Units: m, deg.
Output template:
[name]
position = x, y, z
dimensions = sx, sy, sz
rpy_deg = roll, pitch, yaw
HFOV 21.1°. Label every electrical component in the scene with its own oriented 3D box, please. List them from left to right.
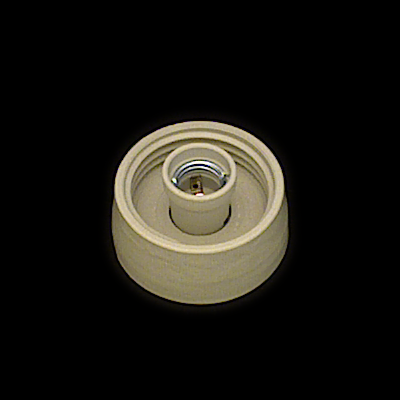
[electrical component]
position = 0.000, 0.000, 0.634
dimensions = 0.108, 0.107, 0.060
rpy_deg = 0, -37, -1
